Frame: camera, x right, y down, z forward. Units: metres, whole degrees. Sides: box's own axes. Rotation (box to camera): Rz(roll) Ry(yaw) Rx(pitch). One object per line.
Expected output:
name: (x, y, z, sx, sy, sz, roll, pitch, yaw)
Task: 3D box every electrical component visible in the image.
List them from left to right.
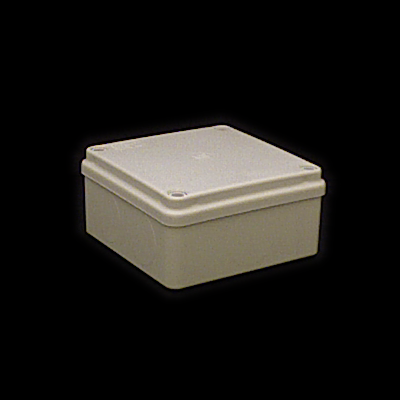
electrical component: (0.000, 0.000, 0.639, 0.108, 0.057, 0.107, -12, 25, -31)
